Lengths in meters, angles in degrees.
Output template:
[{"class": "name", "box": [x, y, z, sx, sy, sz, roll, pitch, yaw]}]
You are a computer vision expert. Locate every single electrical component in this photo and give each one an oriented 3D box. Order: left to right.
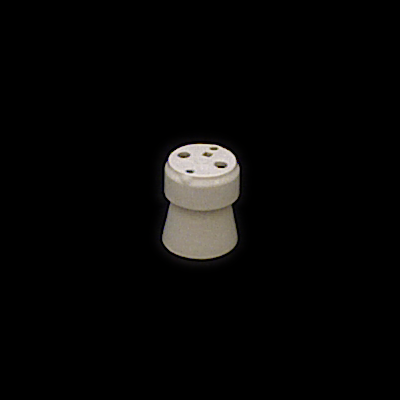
[{"class": "electrical component", "box": [0.000, 0.000, 0.635, 0.045, 0.056, 0.044, 1, 32, 0]}]
